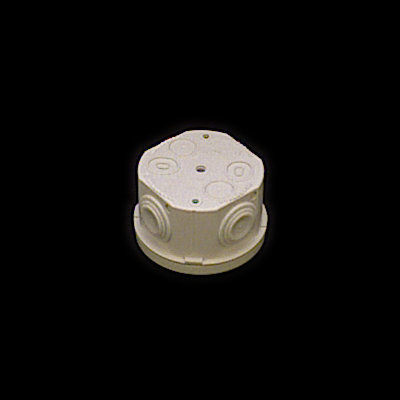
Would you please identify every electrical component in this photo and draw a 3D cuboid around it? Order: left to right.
[{"bbox_3d":[0.000,0.000,0.635,0.080,0.051,0.079,1,42,0],"label":"electrical component"}]
